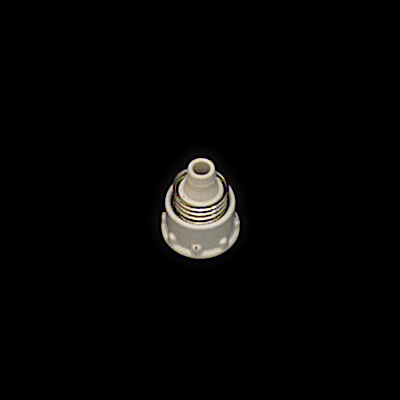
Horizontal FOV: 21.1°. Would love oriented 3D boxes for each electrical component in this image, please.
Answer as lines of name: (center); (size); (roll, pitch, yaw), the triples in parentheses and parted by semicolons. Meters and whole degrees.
electrical component: (0.000, 0.000, 0.636); (0.048, 0.048, 0.062); (0, -38, -1)
